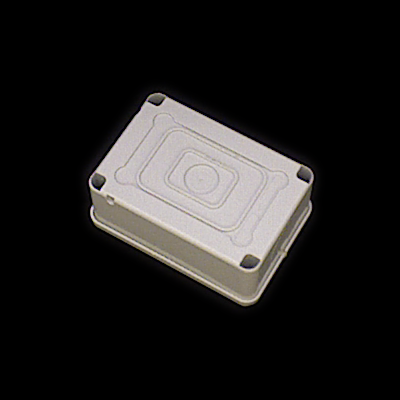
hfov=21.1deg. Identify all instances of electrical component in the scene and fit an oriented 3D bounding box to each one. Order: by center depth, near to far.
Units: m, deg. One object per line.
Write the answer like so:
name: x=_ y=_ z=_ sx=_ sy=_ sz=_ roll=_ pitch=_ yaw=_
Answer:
electrical component: x=0.000 y=0.000 z=0.628 sx=0.113 sy=0.078 sz=0.057 roll=28 pitch=-24 yaw=13
